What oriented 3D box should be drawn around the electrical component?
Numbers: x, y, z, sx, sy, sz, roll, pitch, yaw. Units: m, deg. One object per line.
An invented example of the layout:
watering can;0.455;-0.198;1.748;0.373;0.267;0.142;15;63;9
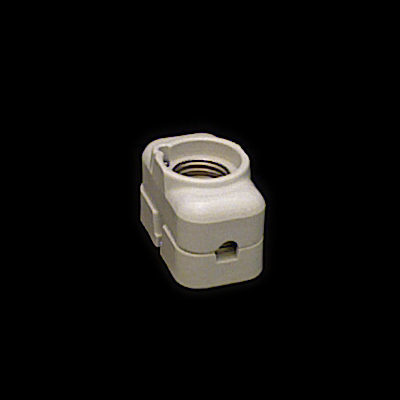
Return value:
electrical component;0.000;0.000;0.641;0.054;0.060;0.093;-10;33;-17
